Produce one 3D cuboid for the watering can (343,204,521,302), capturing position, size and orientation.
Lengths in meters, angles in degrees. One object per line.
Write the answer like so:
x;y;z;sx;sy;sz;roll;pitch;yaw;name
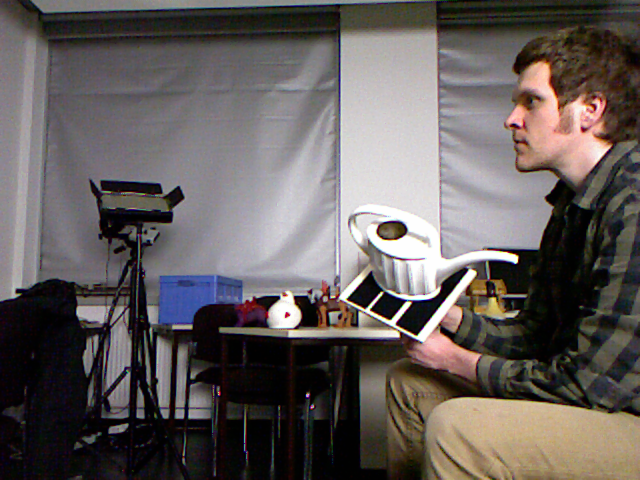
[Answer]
0.198;0.039;0.985;0.351;0.219;0.106;21;55;30;watering can
